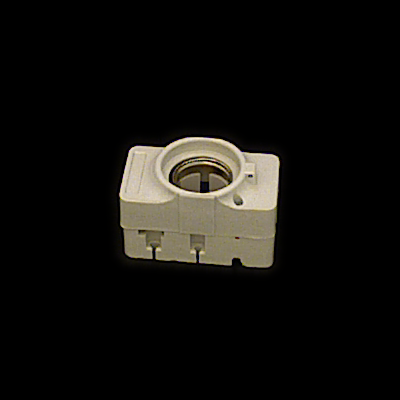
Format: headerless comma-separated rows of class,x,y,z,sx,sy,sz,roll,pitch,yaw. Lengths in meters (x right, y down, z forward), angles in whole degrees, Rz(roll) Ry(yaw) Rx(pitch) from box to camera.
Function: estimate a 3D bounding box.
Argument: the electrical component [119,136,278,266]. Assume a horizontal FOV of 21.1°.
electrical component,0.000,0.000,0.639,0.089,0.056,0.050,3,43,3
